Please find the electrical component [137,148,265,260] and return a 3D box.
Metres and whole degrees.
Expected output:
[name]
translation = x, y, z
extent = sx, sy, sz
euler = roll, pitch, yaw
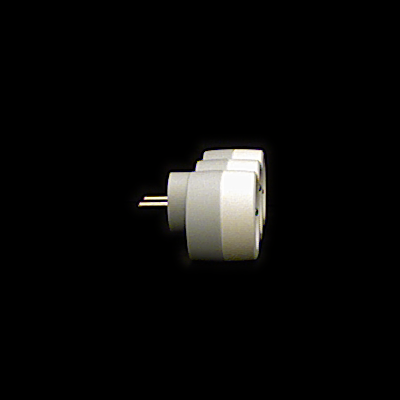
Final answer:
[electrical component]
translation = 0.000, 0.000, 0.653
extent = 0.073, 0.052, 0.137
euler = 1, 11, 6
